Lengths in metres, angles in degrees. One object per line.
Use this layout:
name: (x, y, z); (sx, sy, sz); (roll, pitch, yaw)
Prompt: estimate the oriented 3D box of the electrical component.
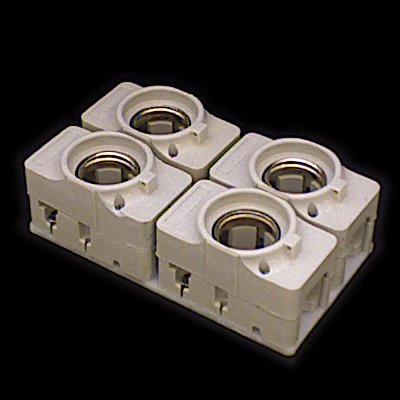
electrical component: (0.000, 0.000, 0.631); (0.185, 0.061, 0.105); (24, 47, 23)
